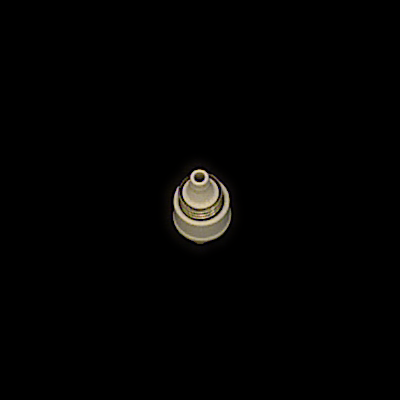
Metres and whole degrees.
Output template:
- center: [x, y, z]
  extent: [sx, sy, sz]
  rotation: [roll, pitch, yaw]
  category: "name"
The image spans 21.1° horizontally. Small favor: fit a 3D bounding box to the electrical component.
- center: [0.000, 0.000, 0.637]
  extent: [0.035, 0.035, 0.061]
  rotation: [0, -27, 2]
  category: "electrical component"
